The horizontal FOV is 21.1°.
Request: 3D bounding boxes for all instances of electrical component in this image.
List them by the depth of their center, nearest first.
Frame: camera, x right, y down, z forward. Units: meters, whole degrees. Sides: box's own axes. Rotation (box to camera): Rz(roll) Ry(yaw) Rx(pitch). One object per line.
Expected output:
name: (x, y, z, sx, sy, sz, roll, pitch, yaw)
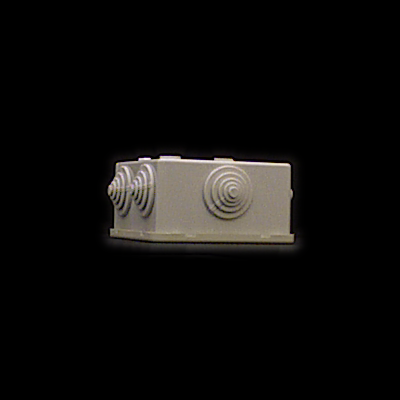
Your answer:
electrical component: (0.000, 0.000, 0.650, 0.100, 0.048, 0.099, 1, 0, -22)
